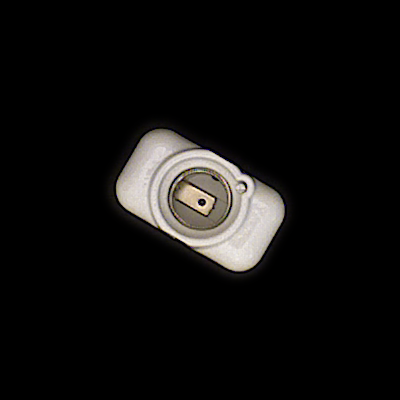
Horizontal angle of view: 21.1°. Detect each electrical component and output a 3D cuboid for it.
[{"bbox_3d":[0.000,0.000,0.635,0.095,0.054,0.059,29,-4,3],"label":"electrical component"}]
